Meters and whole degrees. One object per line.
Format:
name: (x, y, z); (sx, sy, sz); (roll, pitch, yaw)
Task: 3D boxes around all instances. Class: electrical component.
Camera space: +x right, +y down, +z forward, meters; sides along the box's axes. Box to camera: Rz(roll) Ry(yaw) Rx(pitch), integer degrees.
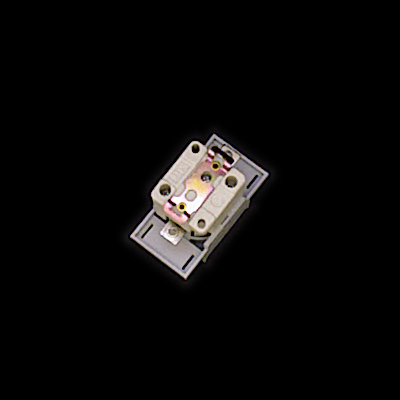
electrical component: (0.000, 0.000, 0.625); (0.042, 0.081, 0.063); (36, -14, 10)
